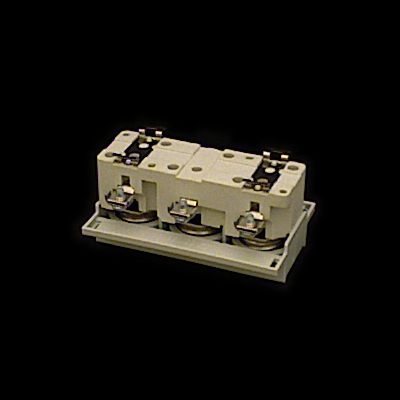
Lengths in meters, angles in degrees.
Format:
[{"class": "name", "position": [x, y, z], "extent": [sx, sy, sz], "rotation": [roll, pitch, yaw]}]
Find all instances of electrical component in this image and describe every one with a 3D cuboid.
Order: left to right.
[{"class": "electrical component", "position": [0.000, 0.000, 0.644], "extent": [0.121, 0.064, 0.078], "rotation": [12, 33, 16]}]
